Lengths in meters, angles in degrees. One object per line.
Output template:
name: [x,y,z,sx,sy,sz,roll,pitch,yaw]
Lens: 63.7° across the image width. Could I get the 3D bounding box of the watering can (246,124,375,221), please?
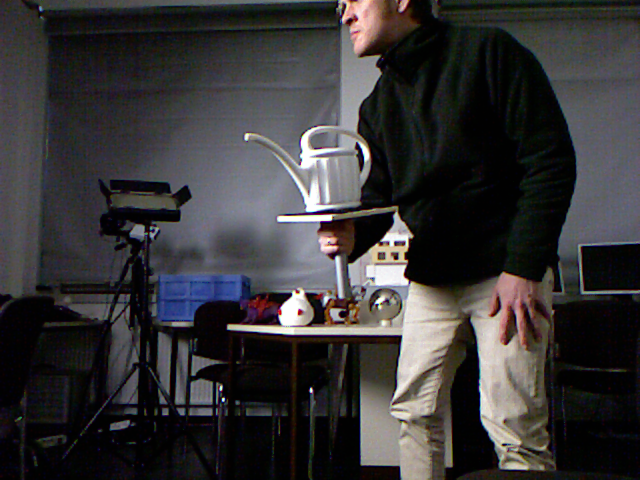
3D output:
watering can: [-0.009,-0.152,1.181,0.349,0.223,0.104,-8,8,-34]
